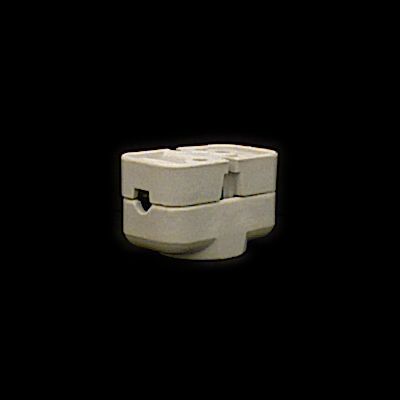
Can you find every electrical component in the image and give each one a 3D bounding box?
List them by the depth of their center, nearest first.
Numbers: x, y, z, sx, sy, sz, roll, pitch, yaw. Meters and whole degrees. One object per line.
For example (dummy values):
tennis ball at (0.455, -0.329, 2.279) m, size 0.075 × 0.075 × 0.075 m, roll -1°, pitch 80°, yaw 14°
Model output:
electrical component at (0.000, 0.000, 0.651) m, size 0.096 × 0.060 × 0.053 m, roll -10°, pitch 16°, yaw -44°
